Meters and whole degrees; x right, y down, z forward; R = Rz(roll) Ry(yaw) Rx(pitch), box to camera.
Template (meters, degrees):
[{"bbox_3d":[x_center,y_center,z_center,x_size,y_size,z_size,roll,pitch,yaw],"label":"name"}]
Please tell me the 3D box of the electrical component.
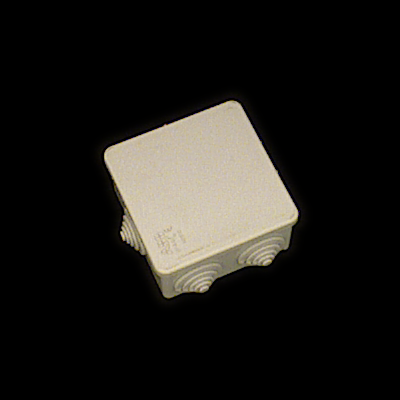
[{"bbox_3d":[0.000,0.000,0.639,0.100,0.099,0.048,-22,-24,-11],"label":"electrical component"}]
